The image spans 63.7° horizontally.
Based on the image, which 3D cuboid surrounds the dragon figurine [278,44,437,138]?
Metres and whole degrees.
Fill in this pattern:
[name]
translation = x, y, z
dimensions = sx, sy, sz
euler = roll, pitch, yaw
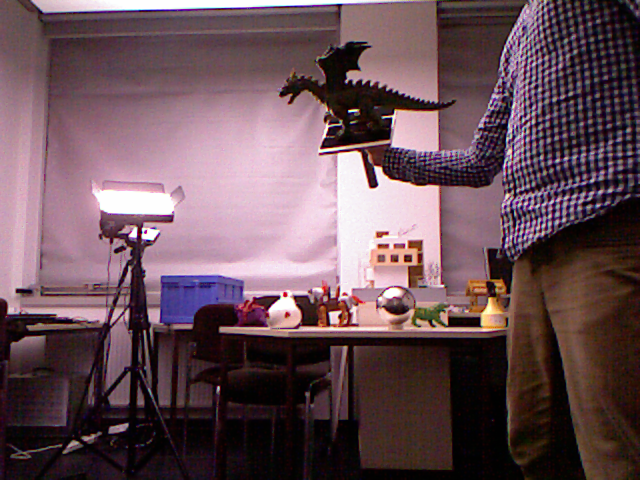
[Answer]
[dragon figurine]
translation = 0.090, -0.409, 1.375
dimensions = 0.410, 0.125, 0.238
euler = -8, -41, 16
